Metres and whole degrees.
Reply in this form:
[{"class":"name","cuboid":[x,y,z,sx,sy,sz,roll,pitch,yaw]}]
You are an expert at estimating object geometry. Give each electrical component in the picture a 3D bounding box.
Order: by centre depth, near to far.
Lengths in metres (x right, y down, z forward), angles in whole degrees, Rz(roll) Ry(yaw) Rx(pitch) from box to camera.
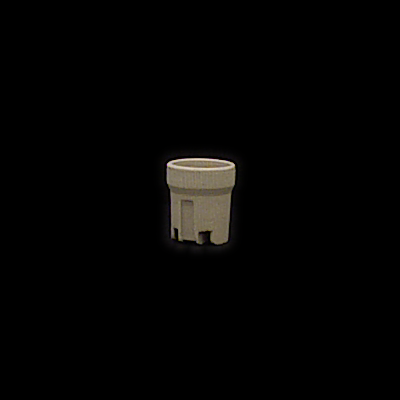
[{"class":"electrical component","cuboid":[0.000,0.000,0.642,0.040,0.046,0.040,1,11,0]}]
